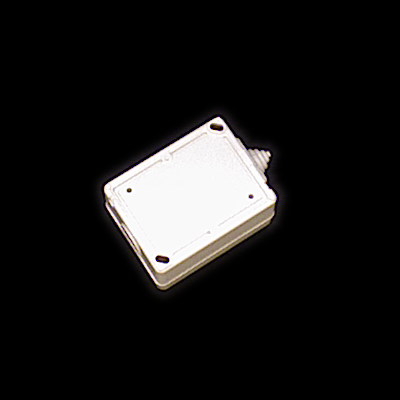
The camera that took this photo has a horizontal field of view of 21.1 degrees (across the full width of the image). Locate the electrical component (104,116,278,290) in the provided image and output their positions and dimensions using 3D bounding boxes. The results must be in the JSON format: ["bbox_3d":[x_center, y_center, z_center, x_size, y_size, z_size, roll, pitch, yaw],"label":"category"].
[{"bbox_3d":[0.000,0.000,0.627,0.096,0.062,0.060,-32,-14,-10],"label":"electrical component"}]
